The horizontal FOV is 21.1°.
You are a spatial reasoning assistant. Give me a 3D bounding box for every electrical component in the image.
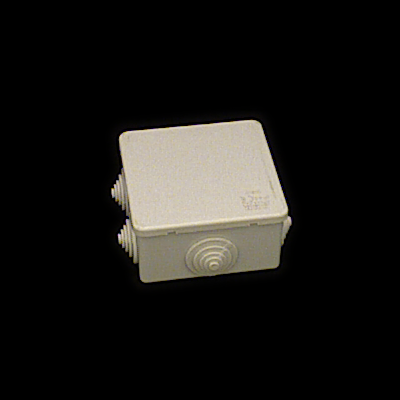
[{"bbox_3d":[0.000,0.000,0.642,0.100,0.049,0.098,-6,43,-7],"label":"electrical component"}]
